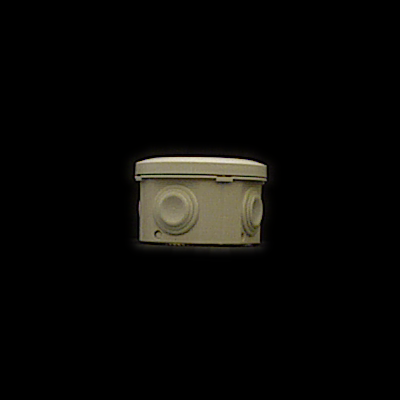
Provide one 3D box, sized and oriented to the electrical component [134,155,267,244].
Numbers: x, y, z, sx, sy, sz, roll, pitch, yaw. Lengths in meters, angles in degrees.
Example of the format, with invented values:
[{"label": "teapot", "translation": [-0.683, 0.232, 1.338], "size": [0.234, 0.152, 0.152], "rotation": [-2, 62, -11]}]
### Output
[{"label": "electrical component", "translation": [0.000, 0.000, 0.652], "size": [0.080, 0.051, 0.080], "rotation": [1, 0, 0]}]
